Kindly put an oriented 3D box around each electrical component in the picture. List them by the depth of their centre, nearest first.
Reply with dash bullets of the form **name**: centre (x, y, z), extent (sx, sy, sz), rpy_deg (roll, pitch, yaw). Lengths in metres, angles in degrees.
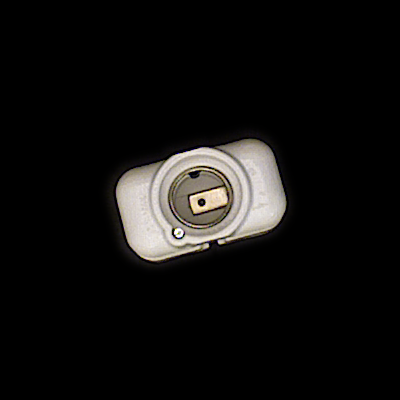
- **electrical component**: centre (0.000, 0.000, 0.635), extent (0.095, 0.054, 0.059), rpy_deg (-16, -6, -1)
